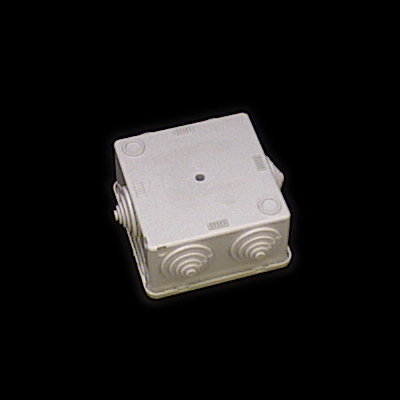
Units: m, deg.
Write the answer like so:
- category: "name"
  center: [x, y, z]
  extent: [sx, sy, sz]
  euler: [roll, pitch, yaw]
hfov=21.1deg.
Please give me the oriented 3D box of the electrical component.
- category: "electrical component"
  center: [0.000, 0.000, 0.632]
  extent: [0.100, 0.099, 0.049]
  euler: [-13, -36, -10]
